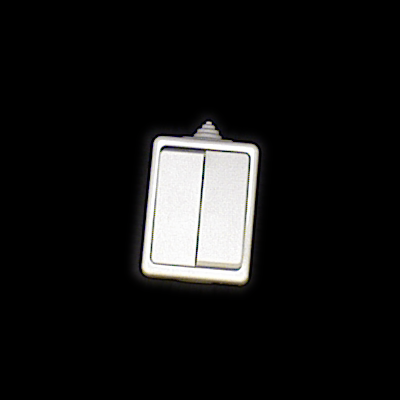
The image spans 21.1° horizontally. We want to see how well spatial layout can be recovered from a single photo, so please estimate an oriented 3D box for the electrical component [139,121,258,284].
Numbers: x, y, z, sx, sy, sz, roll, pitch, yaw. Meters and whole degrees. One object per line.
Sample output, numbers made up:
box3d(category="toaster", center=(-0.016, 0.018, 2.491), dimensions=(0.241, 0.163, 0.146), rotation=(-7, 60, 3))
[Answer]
box3d(category="electrical component", center=(0.000, 0.000, 0.627), dimensions=(0.062, 0.096, 0.061), rotation=(5, -7, 1))
